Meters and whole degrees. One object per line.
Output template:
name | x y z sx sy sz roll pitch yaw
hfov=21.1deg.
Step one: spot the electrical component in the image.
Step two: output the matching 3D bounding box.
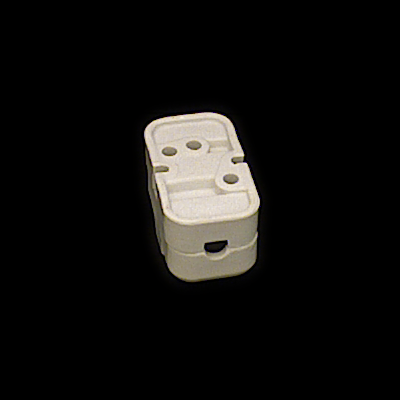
electrical component | 0.000 0.000 0.636 0.054 0.060 0.094 -8 44 -9
